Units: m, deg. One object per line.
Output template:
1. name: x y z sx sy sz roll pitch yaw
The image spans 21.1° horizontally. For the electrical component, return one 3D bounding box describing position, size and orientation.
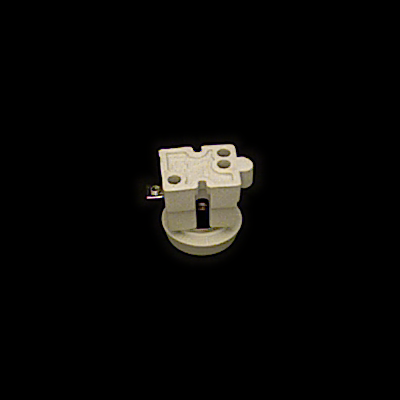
1. electrical component: 0.000 0.000 0.641 0.066 0.056 0.048 -4 44 -4
